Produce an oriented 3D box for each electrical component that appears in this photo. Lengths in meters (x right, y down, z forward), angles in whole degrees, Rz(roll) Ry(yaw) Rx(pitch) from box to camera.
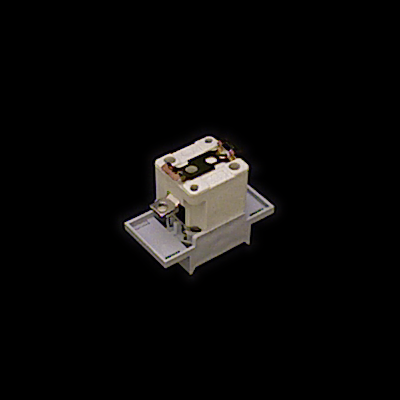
[{"bbox_3d":[0.000,0.000,0.630,0.081,0.064,0.042,-27,49,-27],"label":"electrical component"}]
